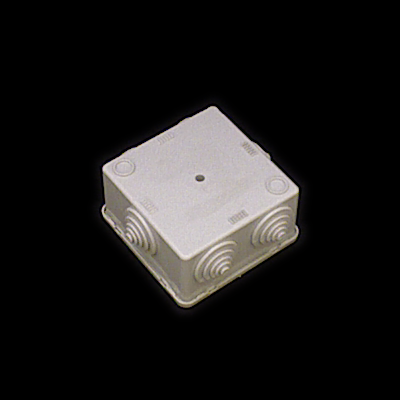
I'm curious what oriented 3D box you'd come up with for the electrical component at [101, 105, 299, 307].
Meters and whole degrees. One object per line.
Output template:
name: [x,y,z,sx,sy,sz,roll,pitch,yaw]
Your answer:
electrical component: [0.000,0.000,0.633,0.100,0.099,0.049,-31,-31,-22]
